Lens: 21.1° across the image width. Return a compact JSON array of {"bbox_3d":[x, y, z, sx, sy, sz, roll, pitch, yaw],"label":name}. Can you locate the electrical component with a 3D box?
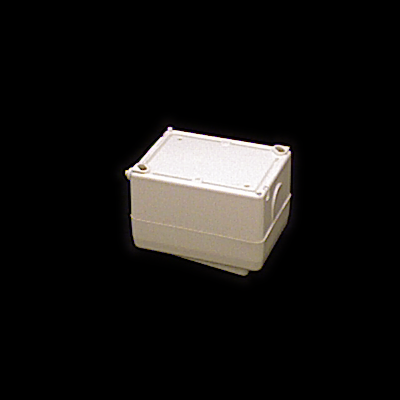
[{"bbox_3d":[0.000,0.000,0.637,0.096,0.061,0.061,11,33,17],"label":"electrical component"}]
